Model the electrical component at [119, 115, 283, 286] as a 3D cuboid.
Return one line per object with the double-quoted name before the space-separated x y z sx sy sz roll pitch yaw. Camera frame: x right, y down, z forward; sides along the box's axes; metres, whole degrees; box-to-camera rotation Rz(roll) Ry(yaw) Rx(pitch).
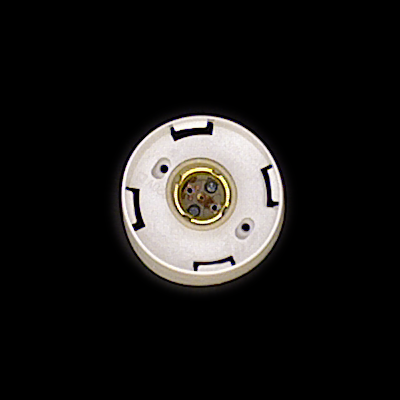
"electrical component" 0.000 0.000 0.626 0.099 0.099 0.064 0 -6 0
